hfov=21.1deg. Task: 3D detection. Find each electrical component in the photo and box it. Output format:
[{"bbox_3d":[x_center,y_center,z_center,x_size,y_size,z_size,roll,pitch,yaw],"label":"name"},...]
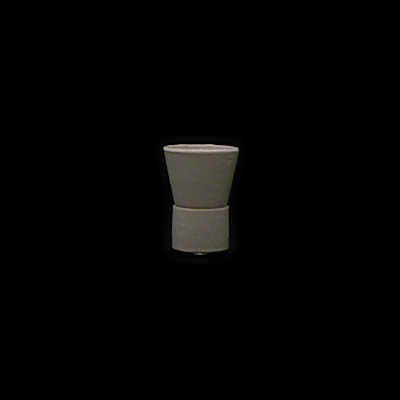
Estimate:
[{"bbox_3d":[0.000,0.000,0.646,0.044,0.066,0.044,1,10,0],"label":"electrical component"}]
